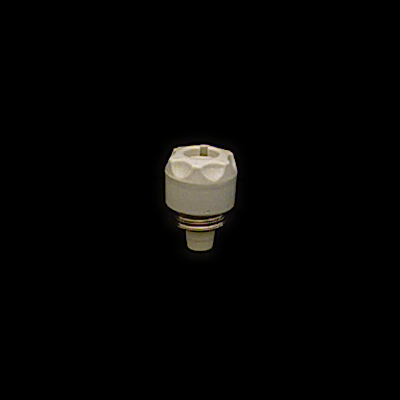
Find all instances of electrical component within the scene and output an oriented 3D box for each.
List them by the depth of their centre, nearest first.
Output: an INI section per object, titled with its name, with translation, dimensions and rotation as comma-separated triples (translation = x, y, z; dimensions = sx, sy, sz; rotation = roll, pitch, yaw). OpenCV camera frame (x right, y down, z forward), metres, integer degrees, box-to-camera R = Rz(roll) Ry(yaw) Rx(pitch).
[electrical component]
translation = 0.000, 0.000, 0.645
dimensions = 0.043, 0.063, 0.043
rotation = 1, 23, 0
